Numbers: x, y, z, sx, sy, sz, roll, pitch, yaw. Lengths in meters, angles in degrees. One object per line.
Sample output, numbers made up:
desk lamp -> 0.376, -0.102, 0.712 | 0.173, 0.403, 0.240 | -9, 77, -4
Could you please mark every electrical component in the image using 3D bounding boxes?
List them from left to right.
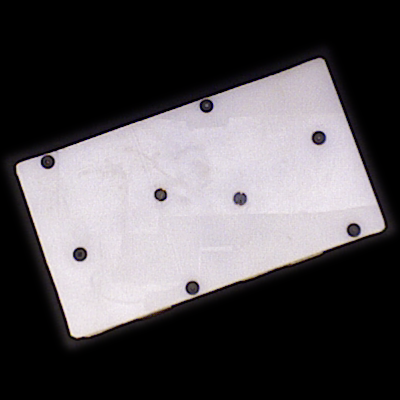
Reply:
electrical component -> 0.000, 0.000, 0.626 | 0.186, 0.106, 0.060 | -19, -6, -2
